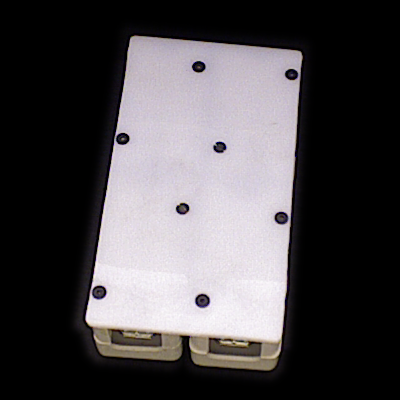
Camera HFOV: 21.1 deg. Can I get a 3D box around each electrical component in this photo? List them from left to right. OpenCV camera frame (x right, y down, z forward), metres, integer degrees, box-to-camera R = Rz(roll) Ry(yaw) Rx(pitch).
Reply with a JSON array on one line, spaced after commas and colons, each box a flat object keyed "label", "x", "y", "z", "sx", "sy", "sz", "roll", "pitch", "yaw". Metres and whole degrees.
[{"label": "electrical component", "x": 0.000, "y": 0.000, "z": 0.625, "sx": 0.105, "sy": 0.186, "sz": 0.060, "roll": 5, "pitch": -27, "yaw": 2}]
